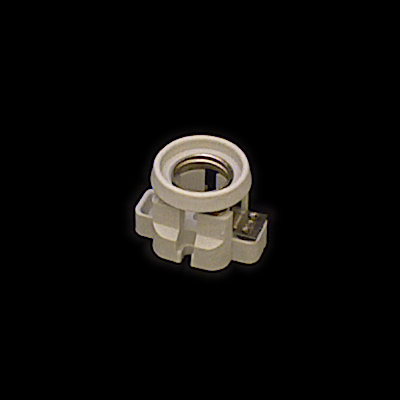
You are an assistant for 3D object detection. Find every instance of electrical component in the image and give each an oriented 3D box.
[{"bbox_3d":[0.000,0.000,0.632,0.078,0.057,0.057,14,44,14],"label":"electrical component"}]
